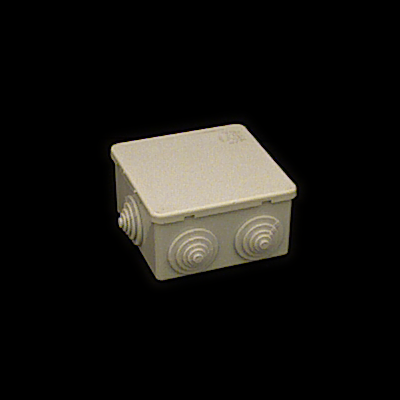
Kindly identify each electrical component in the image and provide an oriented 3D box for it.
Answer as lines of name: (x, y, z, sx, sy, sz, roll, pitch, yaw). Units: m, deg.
electrical component: (0.000, 0.000, 0.646, 0.100, 0.049, 0.098, -11, 34, -18)
